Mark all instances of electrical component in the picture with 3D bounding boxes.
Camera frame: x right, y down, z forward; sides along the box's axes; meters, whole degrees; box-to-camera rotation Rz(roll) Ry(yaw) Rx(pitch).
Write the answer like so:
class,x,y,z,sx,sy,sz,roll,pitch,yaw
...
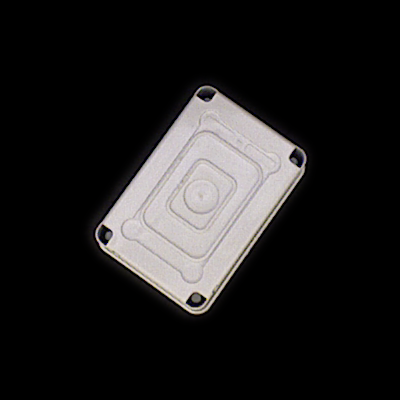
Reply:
class,x,y,z,sx,sy,sz,roll,pitch,yaw
electrical component,0.000,0.000,0.628,0.078,0.113,0.057,35,-6,4
